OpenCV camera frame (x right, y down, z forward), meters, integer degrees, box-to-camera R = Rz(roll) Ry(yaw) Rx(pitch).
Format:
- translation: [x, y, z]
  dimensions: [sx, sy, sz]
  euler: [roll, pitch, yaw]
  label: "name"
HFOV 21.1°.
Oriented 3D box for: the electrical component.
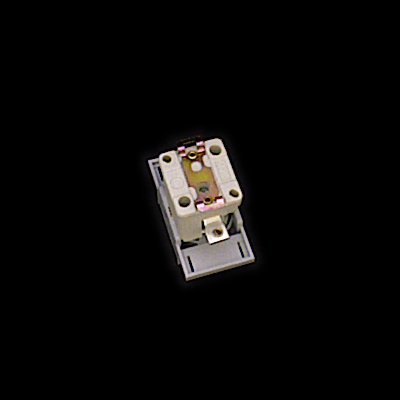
- translation: [0.000, 0.000, 0.625]
  dimensions: [0.042, 0.081, 0.063]
  euler: [-16, -26, -8]
  label: "electrical component"
